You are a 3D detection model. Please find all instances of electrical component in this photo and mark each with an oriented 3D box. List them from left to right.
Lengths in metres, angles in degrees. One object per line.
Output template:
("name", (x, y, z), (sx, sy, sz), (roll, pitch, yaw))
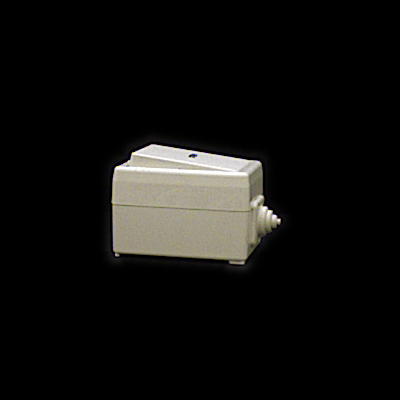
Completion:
("electrical component", (0.000, 0.000, 0.643), (0.096, 0.061, 0.061), (3, 11, 11))
